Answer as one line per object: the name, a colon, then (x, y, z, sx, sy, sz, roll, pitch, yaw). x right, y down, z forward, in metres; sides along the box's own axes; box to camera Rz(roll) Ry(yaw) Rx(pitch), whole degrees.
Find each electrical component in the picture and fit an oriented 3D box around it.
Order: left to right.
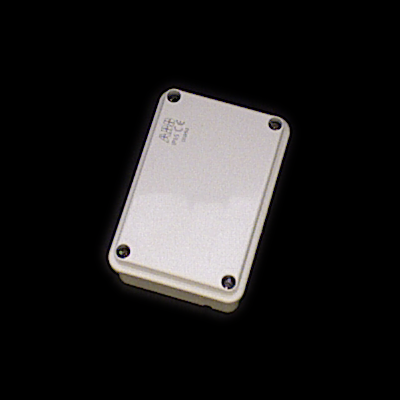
electrical component: (0.000, 0.000, 0.627, 0.078, 0.113, 0.057, 16, -16, 5)
